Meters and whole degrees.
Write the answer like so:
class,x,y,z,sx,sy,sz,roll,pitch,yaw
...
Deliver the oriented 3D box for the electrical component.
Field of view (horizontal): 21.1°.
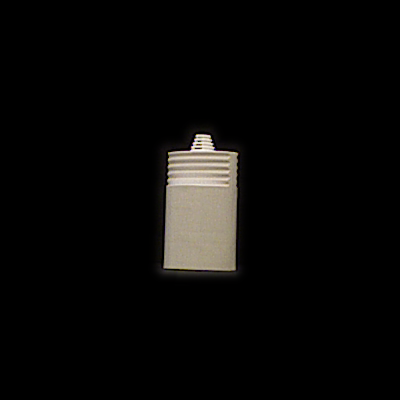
class,x,y,z,sx,sy,sz,roll,pitch,yaw
electrical component,0.000,0.000,0.649,0.043,0.081,0.043,1,1,0
